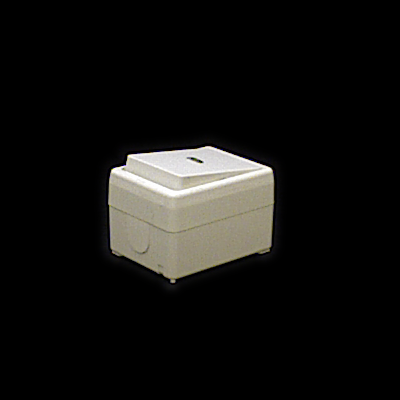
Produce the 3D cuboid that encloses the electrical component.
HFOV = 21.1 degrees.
[{"bbox_3d":[0.000,0.000,0.640,0.096,0.061,0.061,-16,27,-38],"label":"electrical component"}]
